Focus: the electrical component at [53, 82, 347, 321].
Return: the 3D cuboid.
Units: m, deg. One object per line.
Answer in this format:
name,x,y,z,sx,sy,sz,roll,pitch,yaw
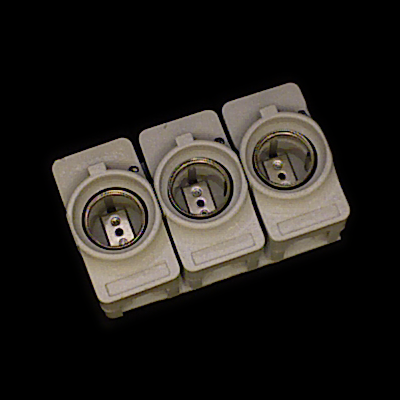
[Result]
electrical component,0.000,0.000,0.632,0.150,0.089,0.062,-19,-17,-6
